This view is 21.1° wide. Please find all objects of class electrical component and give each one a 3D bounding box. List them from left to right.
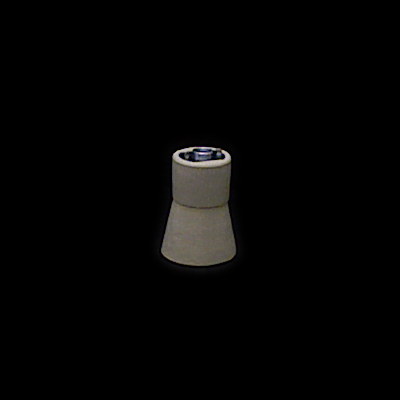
[{"bbox_3d":[0.000,0.000,0.636,0.044,0.066,0.044,2,22,0],"label":"electrical component"}]
